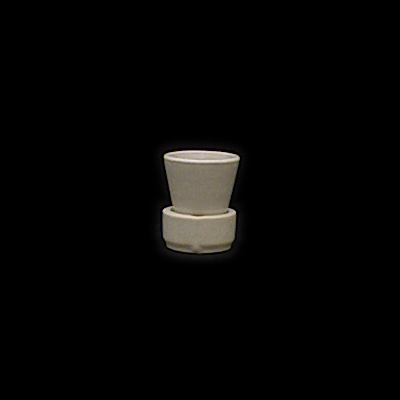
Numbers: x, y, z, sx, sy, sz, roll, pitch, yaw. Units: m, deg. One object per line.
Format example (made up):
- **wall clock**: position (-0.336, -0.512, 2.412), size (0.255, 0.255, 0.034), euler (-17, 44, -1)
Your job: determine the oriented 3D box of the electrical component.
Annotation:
- **electrical component**: position (0.000, 0.000, 0.646), size (0.045, 0.055, 0.044), euler (2, 11, 0)
